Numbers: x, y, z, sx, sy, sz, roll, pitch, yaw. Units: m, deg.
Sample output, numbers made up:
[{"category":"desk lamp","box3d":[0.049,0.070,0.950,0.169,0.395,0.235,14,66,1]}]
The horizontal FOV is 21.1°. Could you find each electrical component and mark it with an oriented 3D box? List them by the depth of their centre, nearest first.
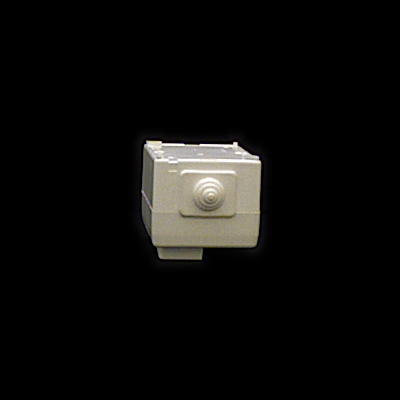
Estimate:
[{"category":"electrical component","box3d":[-0.001,0.000,0.637,0.062,0.061,0.095,0,10,-8]}]
